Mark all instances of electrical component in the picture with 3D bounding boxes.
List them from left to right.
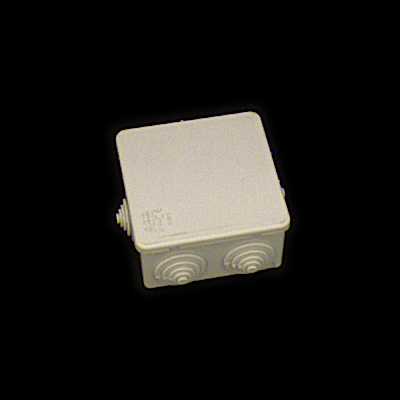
[{"bbox_3d":[0.000,0.000,0.639,0.100,0.099,0.048,-8,-36,-7],"label":"electrical component"}]
